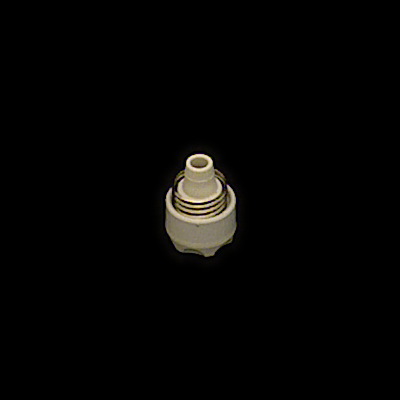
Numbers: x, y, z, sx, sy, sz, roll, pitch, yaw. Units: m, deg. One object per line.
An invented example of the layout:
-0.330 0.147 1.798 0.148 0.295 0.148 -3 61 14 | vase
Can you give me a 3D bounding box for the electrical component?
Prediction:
0.000 0.000 0.637 0.043 0.062 0.043 0 43 1 | electrical component
